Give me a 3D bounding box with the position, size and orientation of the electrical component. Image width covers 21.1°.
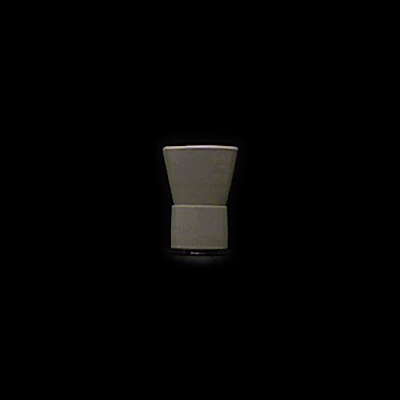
[{"bbox_3d":[0.000,0.000,0.647,0.044,0.065,0.044,1,2,0],"label":"electrical component"}]
